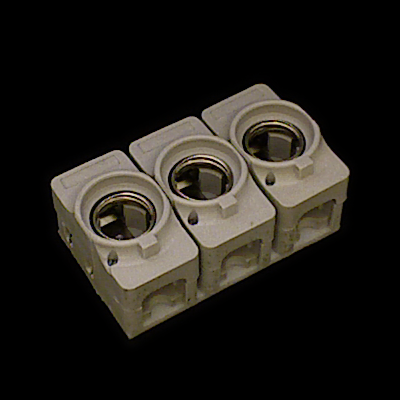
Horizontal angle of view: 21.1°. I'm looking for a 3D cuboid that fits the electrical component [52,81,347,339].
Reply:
[{"bbox_3d":[0.000,0.000,0.633,0.150,0.088,0.062,-27,-32,-19],"label":"electrical component"}]
